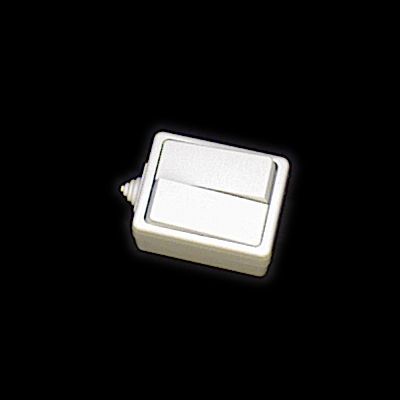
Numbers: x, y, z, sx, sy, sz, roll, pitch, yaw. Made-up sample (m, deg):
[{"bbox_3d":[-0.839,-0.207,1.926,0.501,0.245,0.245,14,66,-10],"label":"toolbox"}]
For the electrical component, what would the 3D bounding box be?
[{"bbox_3d":[0.000,0.000,0.626,0.096,0.062,0.060,13,-17,4],"label":"electrical component"}]
